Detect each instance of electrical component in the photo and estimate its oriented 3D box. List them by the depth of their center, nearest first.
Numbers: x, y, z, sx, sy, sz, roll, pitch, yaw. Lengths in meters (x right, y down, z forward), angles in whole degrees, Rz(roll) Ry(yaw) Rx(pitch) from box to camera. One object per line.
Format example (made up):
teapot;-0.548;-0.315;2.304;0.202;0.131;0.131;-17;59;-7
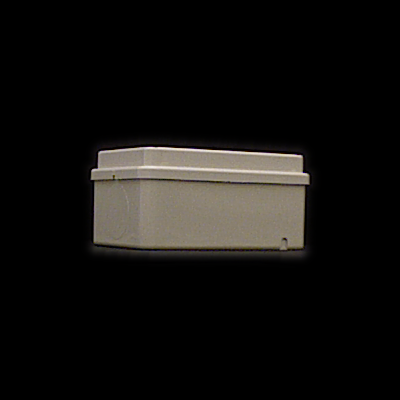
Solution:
electrical component;0.000;0.000;0.647;0.113;0.057;0.078;2;0;-30
